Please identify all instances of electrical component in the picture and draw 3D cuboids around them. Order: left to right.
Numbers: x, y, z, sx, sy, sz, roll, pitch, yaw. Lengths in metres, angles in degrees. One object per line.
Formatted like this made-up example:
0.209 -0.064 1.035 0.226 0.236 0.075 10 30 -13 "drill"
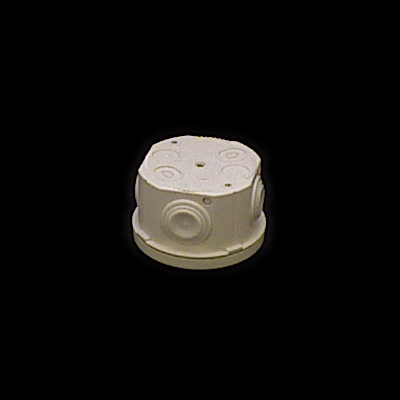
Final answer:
0.000 0.000 0.637 0.080 0.051 0.079 1 32 -1 "electrical component"
